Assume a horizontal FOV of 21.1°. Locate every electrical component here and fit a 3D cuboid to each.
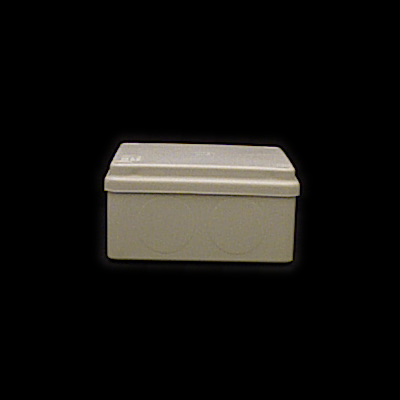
[{"bbox_3d":[0.000,0.000,0.646,0.109,0.056,0.108,2,10,-1],"label":"electrical component"}]
